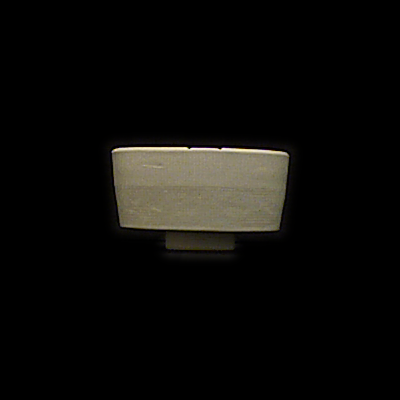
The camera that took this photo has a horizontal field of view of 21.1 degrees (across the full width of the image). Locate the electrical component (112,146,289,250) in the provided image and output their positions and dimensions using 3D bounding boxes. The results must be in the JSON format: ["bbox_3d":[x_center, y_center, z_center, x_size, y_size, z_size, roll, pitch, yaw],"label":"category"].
[{"bbox_3d":[0.000,0.000,0.659,0.108,0.060,0.108,1,1,1],"label":"electrical component"}]
